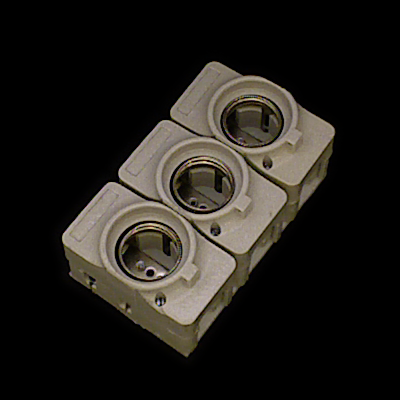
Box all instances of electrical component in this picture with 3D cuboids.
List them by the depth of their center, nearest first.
[{"bbox_3d":[0.000,0.000,0.631,0.089,0.149,0.062,32,-22,15],"label":"electrical component"}]
